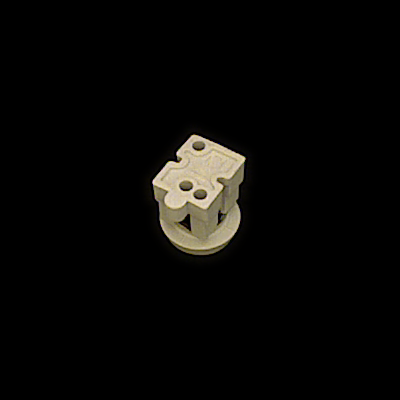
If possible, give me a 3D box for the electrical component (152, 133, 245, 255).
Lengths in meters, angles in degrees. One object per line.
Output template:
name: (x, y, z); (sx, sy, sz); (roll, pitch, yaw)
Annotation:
electrical component: (0.000, 0.000, 0.637); (0.048, 0.067, 0.055); (26, -34, 19)
